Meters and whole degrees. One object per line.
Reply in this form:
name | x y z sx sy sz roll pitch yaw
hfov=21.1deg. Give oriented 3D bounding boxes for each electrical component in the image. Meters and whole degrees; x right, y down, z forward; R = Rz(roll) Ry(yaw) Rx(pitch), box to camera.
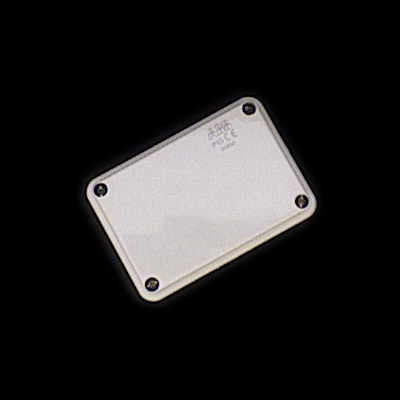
electrical component | 0.000 0.000 0.628 0.113 0.078 0.057 -29 -6 -3
